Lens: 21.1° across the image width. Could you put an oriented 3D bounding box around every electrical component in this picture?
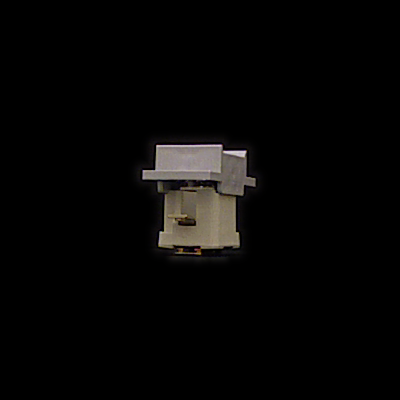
[{"bbox_3d":[0.000,0.000,0.647,0.042,0.064,0.081,3,0,22],"label":"electrical component"}]
